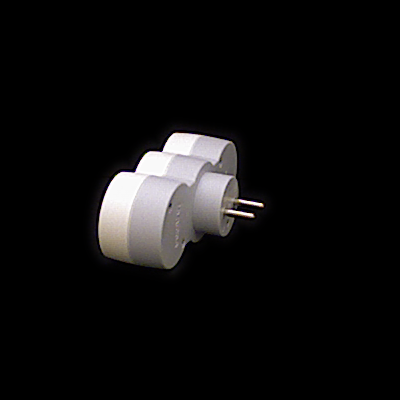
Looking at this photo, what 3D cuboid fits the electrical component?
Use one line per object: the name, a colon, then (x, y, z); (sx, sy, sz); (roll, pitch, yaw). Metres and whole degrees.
electrical component: (0.000, 0.000, 0.644); (0.073, 0.053, 0.137); (10, 22, 17)
